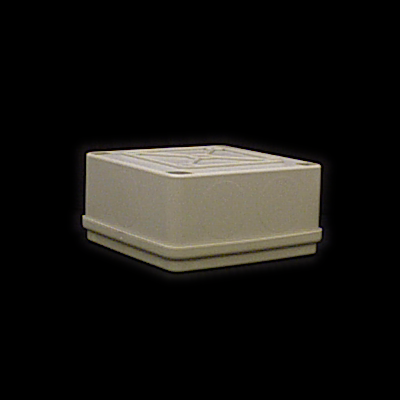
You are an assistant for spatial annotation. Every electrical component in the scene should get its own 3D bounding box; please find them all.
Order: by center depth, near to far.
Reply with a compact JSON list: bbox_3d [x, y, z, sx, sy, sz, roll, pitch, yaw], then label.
[{"bbox_3d":[0.000,0.000,0.645,0.108,0.056,0.108,-5,13,-34],"label":"electrical component"}]
